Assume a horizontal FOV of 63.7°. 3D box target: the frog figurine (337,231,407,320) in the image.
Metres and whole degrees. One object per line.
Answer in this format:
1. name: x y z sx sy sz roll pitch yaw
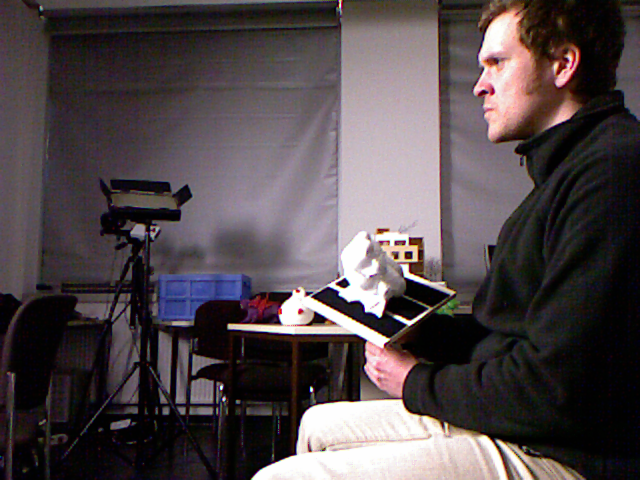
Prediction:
1. frog figurine: 0.091 0.045 0.913 0.124 0.156 0.140 -16 32 -21
